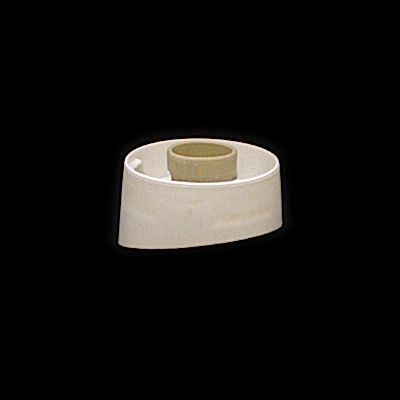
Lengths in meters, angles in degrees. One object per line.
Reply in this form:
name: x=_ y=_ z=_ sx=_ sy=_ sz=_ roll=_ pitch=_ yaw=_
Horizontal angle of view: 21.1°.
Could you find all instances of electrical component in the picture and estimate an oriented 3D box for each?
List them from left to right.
electrical component: x=0.000 y=0.000 z=0.638 sx=0.099 sy=0.065 sz=0.097 roll=1 pitch=20 yaw=0
